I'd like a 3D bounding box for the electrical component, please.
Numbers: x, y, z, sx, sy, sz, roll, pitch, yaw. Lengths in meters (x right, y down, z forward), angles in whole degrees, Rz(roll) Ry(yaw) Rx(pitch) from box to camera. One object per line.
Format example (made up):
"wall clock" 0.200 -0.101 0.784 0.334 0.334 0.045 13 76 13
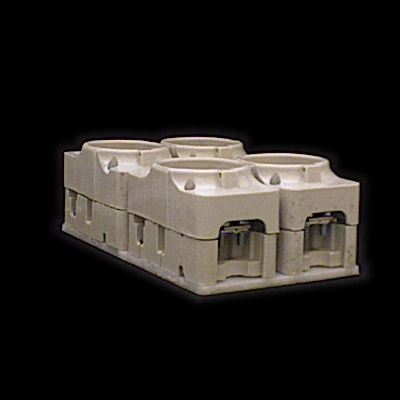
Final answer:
"electrical component" 0.000 0.000 0.644 0.105 0.061 0.184 -5 12 -30
